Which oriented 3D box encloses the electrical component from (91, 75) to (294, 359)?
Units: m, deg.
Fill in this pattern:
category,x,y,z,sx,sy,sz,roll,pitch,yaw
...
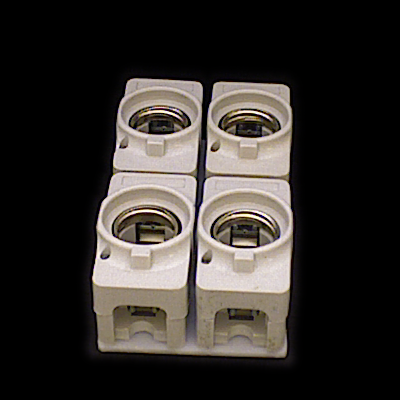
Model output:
category,x,y,z,sx,sy,sz,roll,pitch,yaw
electrical component,0.000,0.000,0.630,0.105,0.061,0.184,2,42,2
